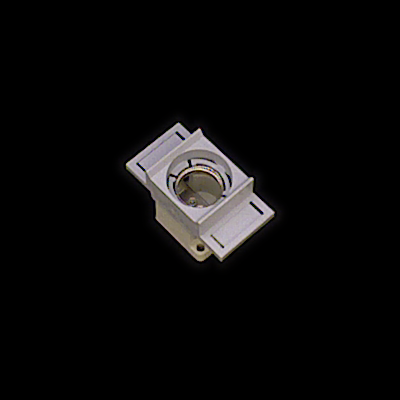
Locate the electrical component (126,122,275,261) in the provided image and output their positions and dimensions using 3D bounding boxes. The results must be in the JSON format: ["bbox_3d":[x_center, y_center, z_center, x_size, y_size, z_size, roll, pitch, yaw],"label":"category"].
[{"bbox_3d":[0.000,0.000,0.625,0.042,0.080,0.063,-40,-20,-17],"label":"electrical component"}]
